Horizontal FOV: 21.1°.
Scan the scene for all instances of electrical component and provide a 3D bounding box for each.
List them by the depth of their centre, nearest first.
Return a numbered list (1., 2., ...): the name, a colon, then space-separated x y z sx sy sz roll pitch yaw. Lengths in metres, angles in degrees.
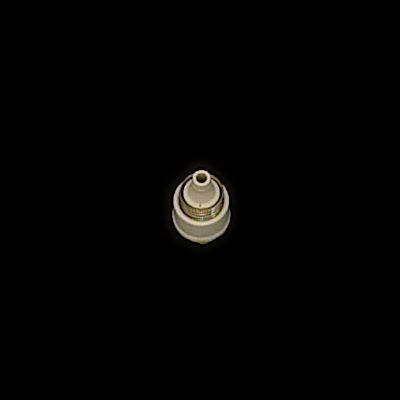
1. electrical component: 0.000 0.000 0.638 0.035 0.035 0.061 0 -25 0
